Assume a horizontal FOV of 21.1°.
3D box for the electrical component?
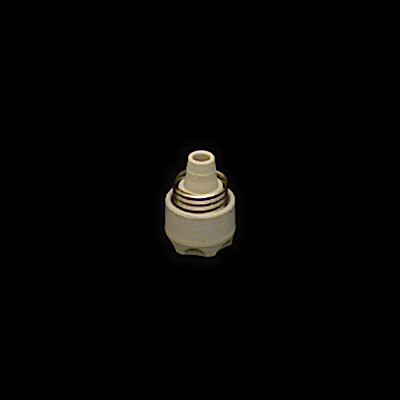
[{"bbox_3d":[0.000,0.000,0.640,0.043,0.063,0.043,1,34,0],"label":"electrical component"}]
